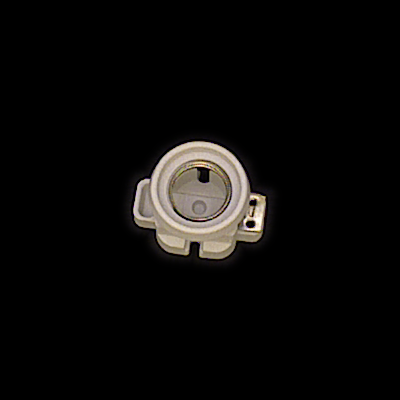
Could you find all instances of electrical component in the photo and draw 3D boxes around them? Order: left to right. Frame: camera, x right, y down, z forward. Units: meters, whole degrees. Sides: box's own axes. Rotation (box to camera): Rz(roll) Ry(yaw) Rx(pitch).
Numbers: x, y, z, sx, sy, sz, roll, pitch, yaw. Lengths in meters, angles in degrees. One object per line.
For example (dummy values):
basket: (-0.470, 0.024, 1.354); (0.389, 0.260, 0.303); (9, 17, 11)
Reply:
electrical component: (0.000, 0.000, 0.629); (0.078, 0.058, 0.056); (8, -17, 2)
